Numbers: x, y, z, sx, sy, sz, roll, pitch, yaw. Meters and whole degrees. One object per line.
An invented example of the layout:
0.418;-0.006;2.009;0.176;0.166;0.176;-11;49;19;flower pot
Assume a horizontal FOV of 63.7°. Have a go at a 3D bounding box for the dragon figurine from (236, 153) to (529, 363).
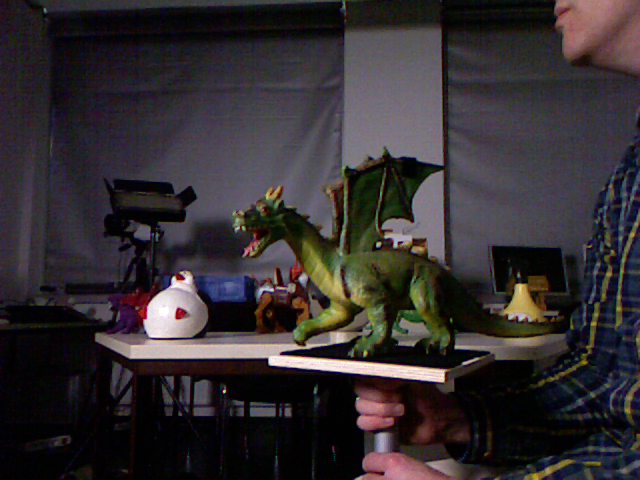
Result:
0.093;0.013;0.629;0.411;0.243;0.122;1;-1;-26;dragon figurine
